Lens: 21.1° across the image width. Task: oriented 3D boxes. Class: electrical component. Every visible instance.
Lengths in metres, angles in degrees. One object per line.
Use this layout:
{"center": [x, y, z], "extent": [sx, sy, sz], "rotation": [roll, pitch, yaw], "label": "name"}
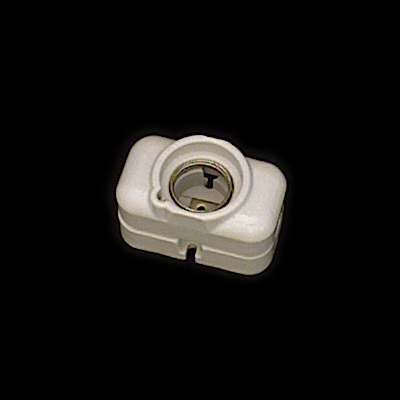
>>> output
{"center": [0.000, 0.000, 0.633], "extent": [0.095, 0.054, 0.059], "rotation": [13, -26, 7], "label": "electrical component"}
